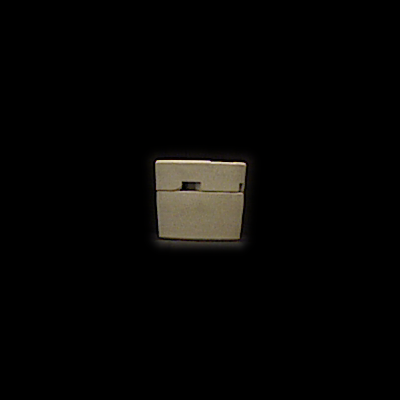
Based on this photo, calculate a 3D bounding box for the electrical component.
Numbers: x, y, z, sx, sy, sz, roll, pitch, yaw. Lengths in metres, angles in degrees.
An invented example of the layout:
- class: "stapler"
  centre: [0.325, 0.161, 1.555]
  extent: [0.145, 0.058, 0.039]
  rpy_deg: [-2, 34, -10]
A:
- class: "electrical component"
  centre: [0.000, 0.000, 0.650]
  extent: [0.055, 0.047, 0.055]
  rpy_deg: [1, 1, 0]
